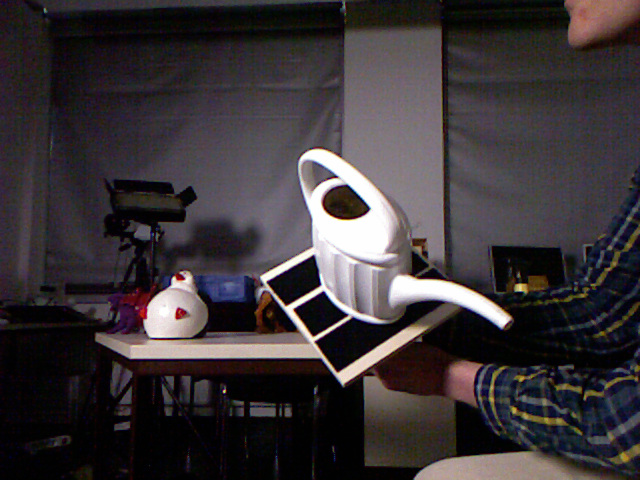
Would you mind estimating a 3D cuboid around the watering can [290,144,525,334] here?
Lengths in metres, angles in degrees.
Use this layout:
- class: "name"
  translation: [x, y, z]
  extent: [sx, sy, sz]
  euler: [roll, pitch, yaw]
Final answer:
- class: "watering can"
  translation: [0.070, 0.028, 0.598]
  extent: [0.106, 0.221, 0.356]
  euler: [-30, 52, -19]
